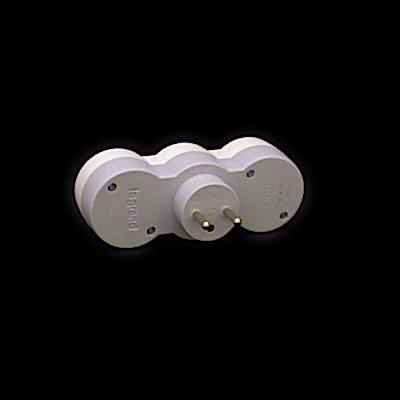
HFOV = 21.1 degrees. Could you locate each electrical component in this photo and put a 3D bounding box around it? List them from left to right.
[{"bbox_3d":[0.000,0.000,0.642,0.138,0.053,0.073,-6,24,-20],"label":"electrical component"}]
